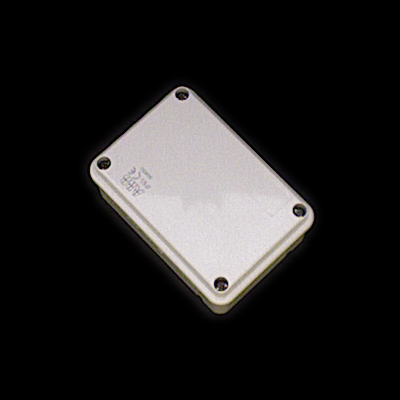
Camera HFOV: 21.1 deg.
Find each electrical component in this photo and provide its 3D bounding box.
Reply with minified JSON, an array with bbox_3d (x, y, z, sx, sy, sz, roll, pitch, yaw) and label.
[{"bbox_3d":[0.000,0.000,0.626,0.078,0.113,0.057,-42,-12,-11],"label":"electrical component"}]
